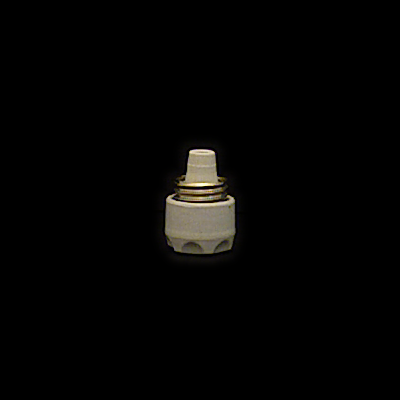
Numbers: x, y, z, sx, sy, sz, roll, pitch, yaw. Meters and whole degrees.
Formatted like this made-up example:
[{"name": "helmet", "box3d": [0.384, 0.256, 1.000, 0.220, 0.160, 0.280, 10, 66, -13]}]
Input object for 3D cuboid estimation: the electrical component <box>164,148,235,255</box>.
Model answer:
[{"name": "electrical component", "box3d": [0.000, 0.000, 0.650, 0.043, 0.062, 0.043, 1, 13, 0]}]
